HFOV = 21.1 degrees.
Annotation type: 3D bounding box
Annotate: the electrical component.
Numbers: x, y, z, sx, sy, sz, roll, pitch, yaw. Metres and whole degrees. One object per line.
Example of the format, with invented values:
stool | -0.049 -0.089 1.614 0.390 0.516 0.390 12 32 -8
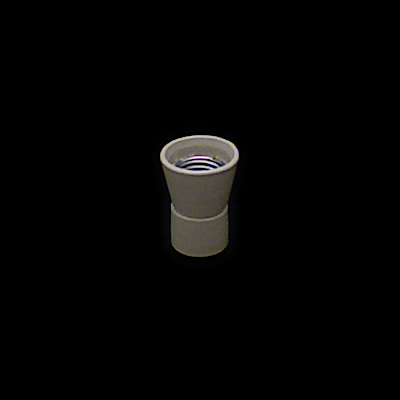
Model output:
electrical component | 0.000 0.000 0.631 0.044 0.066 0.044 0 32 0
